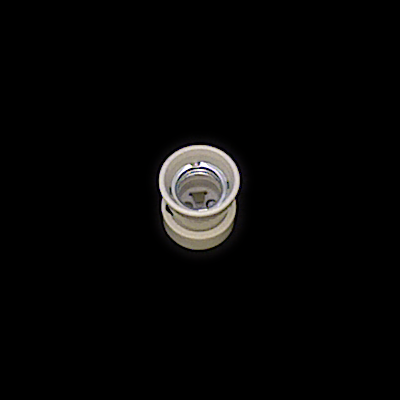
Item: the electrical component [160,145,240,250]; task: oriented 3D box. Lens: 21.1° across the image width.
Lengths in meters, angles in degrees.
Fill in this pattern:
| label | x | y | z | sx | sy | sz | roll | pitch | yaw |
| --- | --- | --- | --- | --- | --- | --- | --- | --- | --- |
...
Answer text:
| label | x | y | z | sx | sy | sz | roll | pitch | yaw |
| --- | --- | --- | --- | --- | --- | --- | --- | --- | --- |
| electrical component | 0.000 | 0.000 | 0.627 | 0.045 | 0.045 | 0.055 | 0 | -26 | 0 |
